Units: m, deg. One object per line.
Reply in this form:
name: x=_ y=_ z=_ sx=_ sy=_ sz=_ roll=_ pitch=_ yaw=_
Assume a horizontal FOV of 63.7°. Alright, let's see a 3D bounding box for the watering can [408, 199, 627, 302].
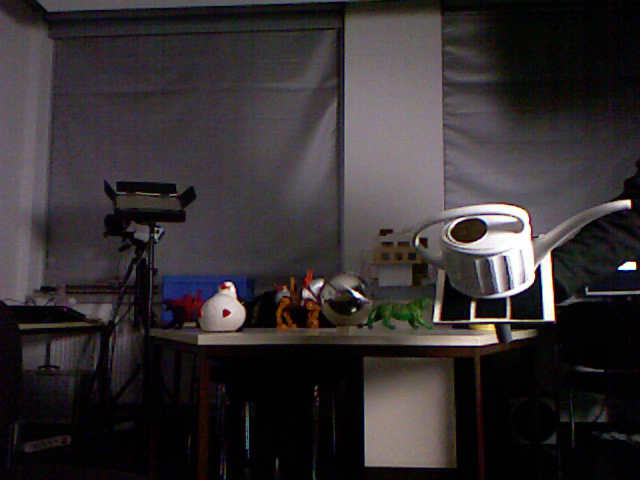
watering can: x=0.336 y=0.016 z=0.904 sx=0.348 sy=0.107 sz=0.220 roll=-4 pitch=-40 yaw=22
